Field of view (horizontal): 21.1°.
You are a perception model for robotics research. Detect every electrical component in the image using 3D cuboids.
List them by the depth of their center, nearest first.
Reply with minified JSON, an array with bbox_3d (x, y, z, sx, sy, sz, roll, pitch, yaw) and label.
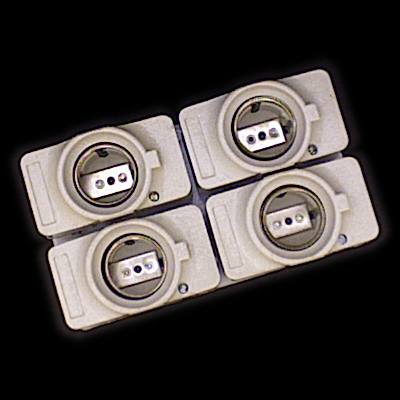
[{"bbox_3d":[0.000,0.000,0.626,0.186,0.106,0.060,-17,-6,-2],"label":"electrical component"}]
